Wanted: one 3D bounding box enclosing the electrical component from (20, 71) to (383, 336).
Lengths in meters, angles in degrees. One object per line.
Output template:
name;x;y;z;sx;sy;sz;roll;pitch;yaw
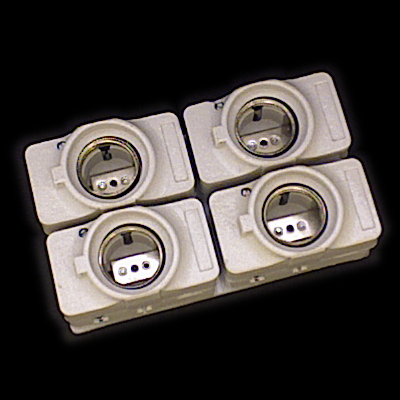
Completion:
electrical component;0.000;0.000;0.625;0.186;0.106;0.060;-14;-17;-4
